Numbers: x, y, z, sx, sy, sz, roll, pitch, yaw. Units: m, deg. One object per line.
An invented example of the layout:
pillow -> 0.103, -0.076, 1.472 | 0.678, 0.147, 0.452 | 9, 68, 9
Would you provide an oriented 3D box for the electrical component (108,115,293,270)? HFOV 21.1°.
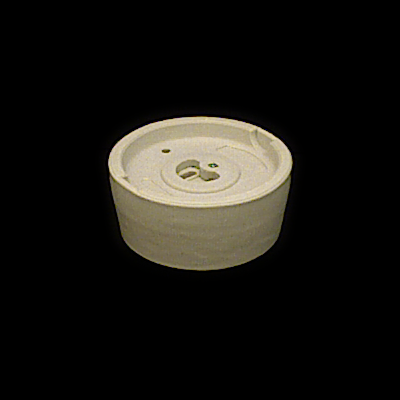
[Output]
electrical component -> 0.000, 0.000, 0.645 | 0.108, 0.061, 0.106 | 1, 32, 0
